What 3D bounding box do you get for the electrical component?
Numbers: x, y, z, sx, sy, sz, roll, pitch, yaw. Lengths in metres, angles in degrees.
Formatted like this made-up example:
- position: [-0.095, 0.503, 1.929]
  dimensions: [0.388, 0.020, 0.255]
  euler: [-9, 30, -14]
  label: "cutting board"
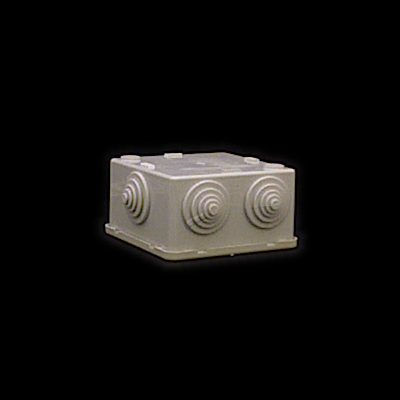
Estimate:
- position: [0.000, 0.000, 0.646]
  dimensions: [0.100, 0.049, 0.099]
  euler: [-5, 12, -29]
  label: "electrical component"
